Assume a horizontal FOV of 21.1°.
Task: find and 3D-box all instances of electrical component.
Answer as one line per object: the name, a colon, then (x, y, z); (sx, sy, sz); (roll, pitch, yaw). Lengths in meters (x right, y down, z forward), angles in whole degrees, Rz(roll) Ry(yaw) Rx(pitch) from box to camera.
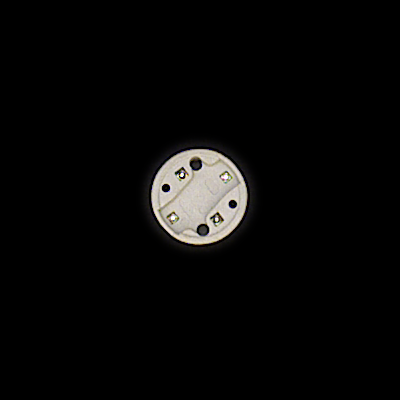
electrical component: (0.000, 0.000, 0.635); (0.055, 0.056, 0.047); (0, -7, 0)
